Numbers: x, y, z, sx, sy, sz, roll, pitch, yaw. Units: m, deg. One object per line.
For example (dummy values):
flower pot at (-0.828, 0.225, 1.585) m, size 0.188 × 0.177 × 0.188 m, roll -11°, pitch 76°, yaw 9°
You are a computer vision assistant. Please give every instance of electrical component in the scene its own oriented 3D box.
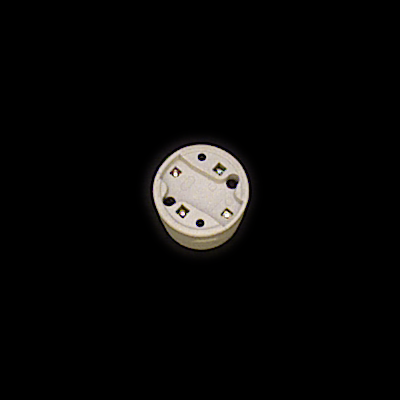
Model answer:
electrical component at (0.000, 0.000, 0.635) m, size 0.055 × 0.056 × 0.047 m, roll 0°, pitch -17°, yaw 1°
